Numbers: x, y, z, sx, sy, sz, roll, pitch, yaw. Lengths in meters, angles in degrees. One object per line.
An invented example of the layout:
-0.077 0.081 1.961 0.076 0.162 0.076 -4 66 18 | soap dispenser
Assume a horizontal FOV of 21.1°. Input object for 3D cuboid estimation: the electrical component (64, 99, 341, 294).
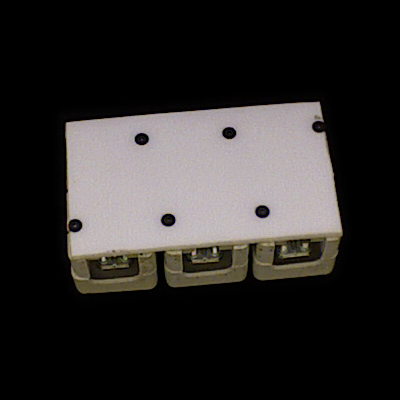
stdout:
0.000 0.000 0.630 0.150 0.089 0.062 -4 -28 -2 | electrical component
